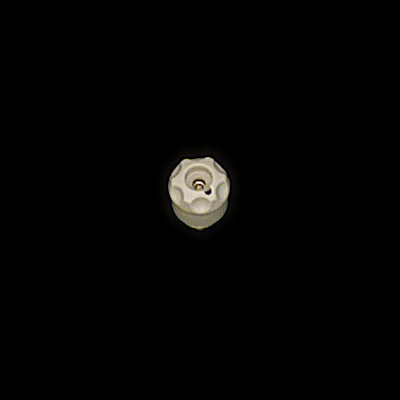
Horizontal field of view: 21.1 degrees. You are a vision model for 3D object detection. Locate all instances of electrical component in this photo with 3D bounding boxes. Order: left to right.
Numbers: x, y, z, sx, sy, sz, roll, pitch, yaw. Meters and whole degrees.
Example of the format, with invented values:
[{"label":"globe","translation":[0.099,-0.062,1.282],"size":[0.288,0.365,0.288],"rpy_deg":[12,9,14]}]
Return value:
[{"label":"electrical component","translation":[0.000,0.000,0.632],"size":[0.035,0.035,0.061],"rpy_deg":[0,-26,0]}]
